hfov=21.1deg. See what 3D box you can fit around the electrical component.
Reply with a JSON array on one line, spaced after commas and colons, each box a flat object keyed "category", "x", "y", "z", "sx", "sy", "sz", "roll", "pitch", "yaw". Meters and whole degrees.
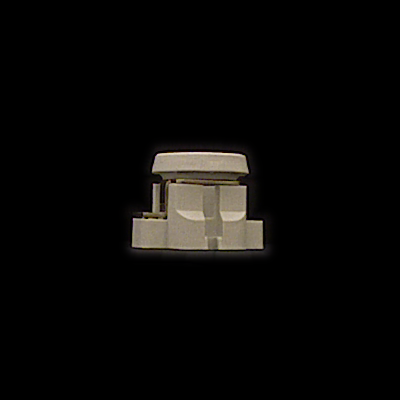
[{"category": "electrical component", "x": 0.000, "y": 0.000, "z": 0.648, "sx": 0.079, "sy": 0.057, "sz": 0.057, "roll": 1, "pitch": 1, "yaw": -20}]
